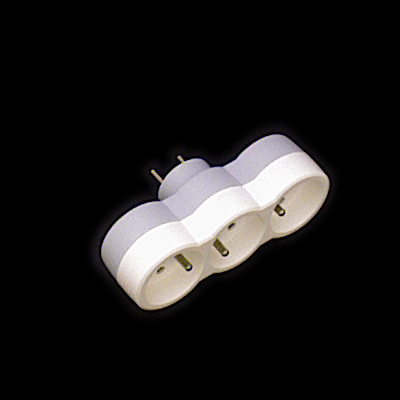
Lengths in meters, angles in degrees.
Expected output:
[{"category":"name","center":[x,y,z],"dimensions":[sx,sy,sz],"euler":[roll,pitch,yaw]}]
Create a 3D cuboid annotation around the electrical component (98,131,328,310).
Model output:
[{"category":"electrical component","center":[0.000,0.000,0.630],"dimensions":[0.138,0.073,0.052],"euler":[-30,-34,-20]}]
